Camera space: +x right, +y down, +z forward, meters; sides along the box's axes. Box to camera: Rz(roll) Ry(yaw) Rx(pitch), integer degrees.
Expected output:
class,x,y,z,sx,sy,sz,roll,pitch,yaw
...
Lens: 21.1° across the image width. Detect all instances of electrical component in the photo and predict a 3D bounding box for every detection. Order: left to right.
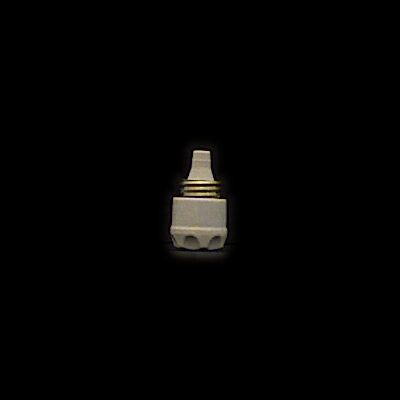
class,x,y,z,sx,sy,sz,roll,pitch,yaw
electrical component,0.000,0.000,0.664,0.035,0.061,0.035,2,3,0
